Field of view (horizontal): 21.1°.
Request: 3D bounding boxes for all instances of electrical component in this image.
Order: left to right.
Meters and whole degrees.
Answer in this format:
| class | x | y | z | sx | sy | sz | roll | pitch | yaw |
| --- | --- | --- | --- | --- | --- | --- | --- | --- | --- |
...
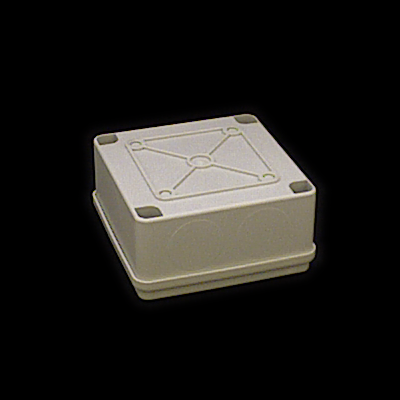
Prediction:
| class | x | y | z | sx | sy | sz | roll | pitch | yaw |
| --- | --- | --- | --- | --- | --- | --- | --- | --- | --- |
| electrical component | 0.000 | 0.000 | 0.634 | 0.109 | 0.057 | 0.107 | -9 | 33 | -16 |
